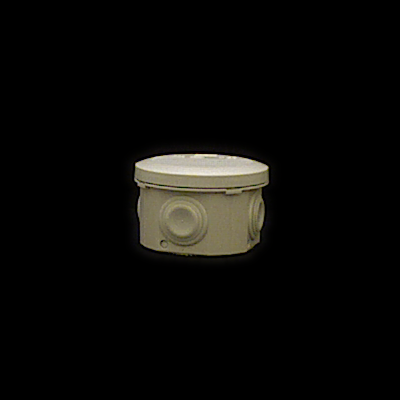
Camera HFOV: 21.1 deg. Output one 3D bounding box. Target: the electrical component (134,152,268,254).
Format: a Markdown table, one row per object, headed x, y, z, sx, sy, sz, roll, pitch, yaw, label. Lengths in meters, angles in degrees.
| x | y | z | sx | sy | sz | roll | pitch | yaw | label |
| --- | --- | --- | --- | --- | --- | --- | --- | --- | --- |
| 0.000 | 0.000 | 0.645 | 0.080 | 0.051 | 0.079 | 1 | 11 | 0 | electrical component |
